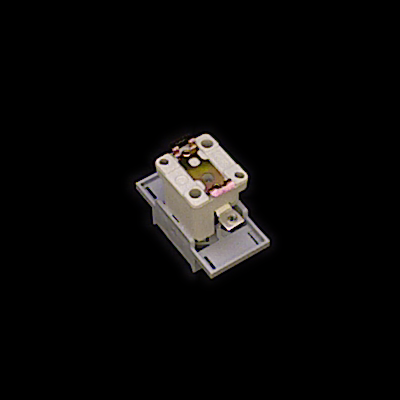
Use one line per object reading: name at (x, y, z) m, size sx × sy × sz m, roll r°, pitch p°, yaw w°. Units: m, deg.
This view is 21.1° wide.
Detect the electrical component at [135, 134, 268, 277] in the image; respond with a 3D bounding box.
electrical component at (0.000, 0.000, 0.627) m, size 0.042 × 0.080 × 0.064 m, roll -29°, pitch -32°, yaw -20°
